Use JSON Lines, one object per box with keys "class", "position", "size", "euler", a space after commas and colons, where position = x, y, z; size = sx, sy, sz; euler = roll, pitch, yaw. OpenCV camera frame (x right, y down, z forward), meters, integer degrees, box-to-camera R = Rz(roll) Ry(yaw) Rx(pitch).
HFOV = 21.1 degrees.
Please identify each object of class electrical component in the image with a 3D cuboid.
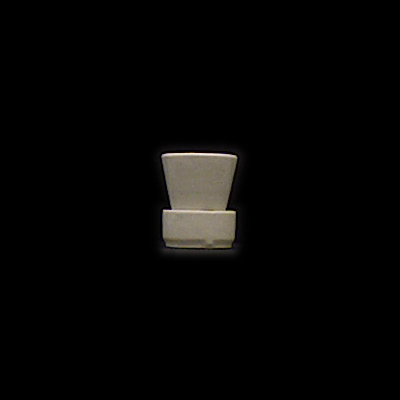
{"class": "electrical component", "position": [0.000, 0.000, 0.648], "size": [0.045, 0.055, 0.045], "euler": [1, 1, 0]}
